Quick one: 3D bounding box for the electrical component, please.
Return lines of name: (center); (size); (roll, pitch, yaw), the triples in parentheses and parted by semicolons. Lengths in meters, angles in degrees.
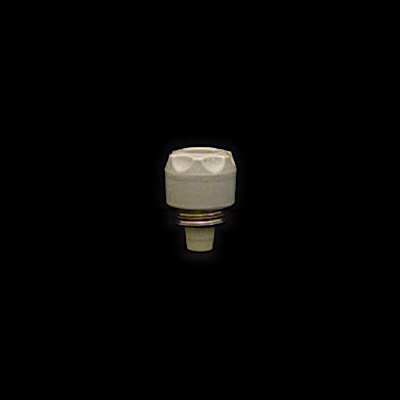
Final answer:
electrical component: (0.000, 0.000, 0.650); (0.043, 0.062, 0.043); (1, 12, 0)
